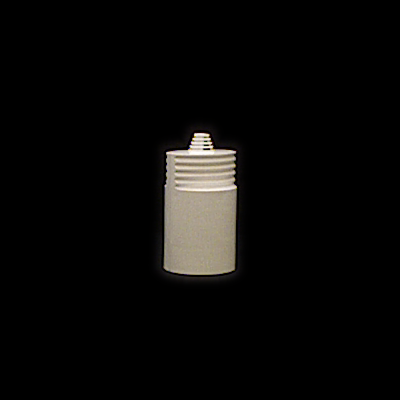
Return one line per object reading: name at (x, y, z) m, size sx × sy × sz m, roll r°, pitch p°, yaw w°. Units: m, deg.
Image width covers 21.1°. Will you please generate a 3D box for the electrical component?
electrical component at (0.000, 0.000, 0.643) m, size 0.043 × 0.081 × 0.043 m, roll 1°, pitch 11°, yaw 0°
